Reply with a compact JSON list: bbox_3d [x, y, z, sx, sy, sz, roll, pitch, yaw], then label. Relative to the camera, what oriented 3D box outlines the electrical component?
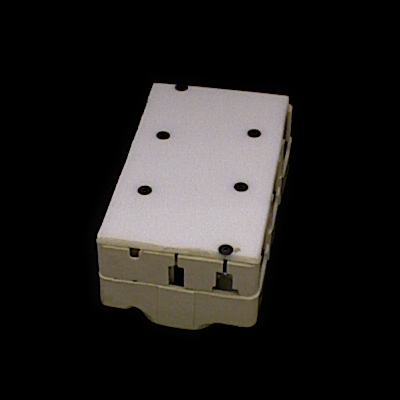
[{"bbox_3d":[0.000,0.000,0.639,0.089,0.063,0.147,8,42,7],"label":"electrical component"}]
